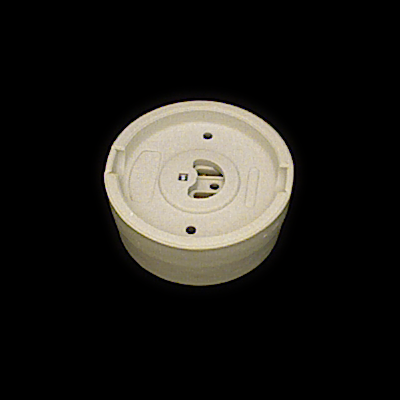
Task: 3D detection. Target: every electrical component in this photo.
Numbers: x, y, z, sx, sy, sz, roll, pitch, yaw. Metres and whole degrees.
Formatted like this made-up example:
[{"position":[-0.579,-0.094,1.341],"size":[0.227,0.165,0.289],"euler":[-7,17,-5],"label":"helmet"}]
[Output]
[{"position":[0.000,0.000,0.634],"size":[0.108,0.107,0.060],"euler":[0,-37,-1],"label":"electrical component"}]
